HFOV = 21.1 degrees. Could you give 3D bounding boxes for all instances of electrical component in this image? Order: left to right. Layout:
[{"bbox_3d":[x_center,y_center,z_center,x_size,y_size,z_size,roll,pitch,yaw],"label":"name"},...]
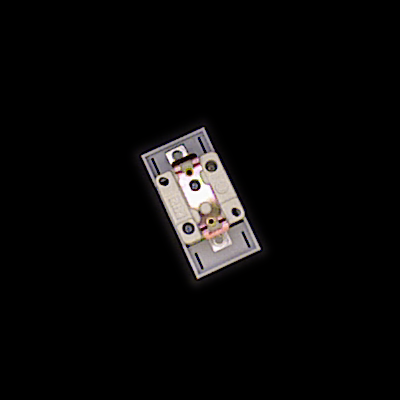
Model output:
[{"bbox_3d":[0.000,0.000,0.626,0.042,0.081,0.063,-25,-6,-2],"label":"electrical component"}]
